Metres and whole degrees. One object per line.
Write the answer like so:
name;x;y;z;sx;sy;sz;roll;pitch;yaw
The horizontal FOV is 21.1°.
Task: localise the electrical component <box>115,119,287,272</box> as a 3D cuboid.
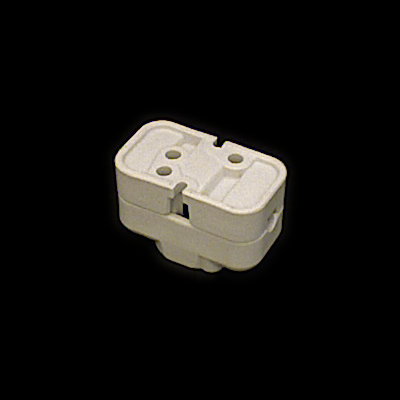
electrical component;0.000;0.000;0.636;0.094;0.060;0.053;20;46;19
